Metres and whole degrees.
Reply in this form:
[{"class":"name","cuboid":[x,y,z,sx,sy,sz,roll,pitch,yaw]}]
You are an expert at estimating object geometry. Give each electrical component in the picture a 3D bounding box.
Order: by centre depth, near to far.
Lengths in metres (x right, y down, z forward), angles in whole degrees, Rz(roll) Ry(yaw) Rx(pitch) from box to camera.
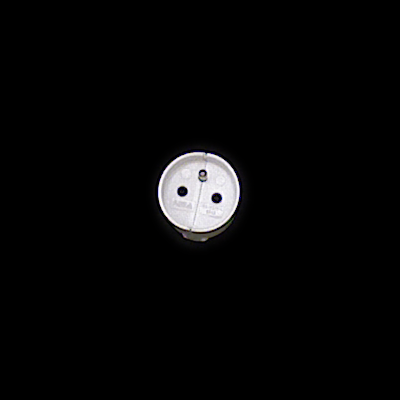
[{"class":"electrical component","cuboid":[0.000,0.000,0.616,0.043,0.043,0.080,0,-7,0]}]
